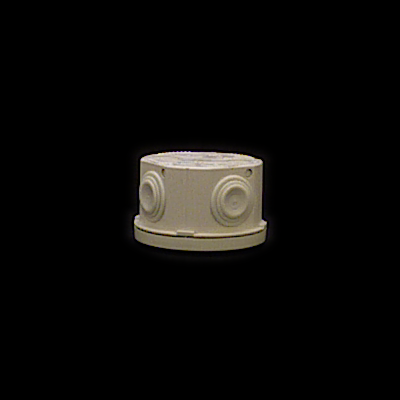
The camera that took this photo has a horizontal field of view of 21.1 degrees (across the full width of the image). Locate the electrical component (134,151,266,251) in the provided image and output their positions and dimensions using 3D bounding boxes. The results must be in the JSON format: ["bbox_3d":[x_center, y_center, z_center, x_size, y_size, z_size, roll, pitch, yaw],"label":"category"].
[{"bbox_3d":[0.000,0.000,0.647,0.080,0.051,0.079,1,10,0],"label":"electrical component"}]
